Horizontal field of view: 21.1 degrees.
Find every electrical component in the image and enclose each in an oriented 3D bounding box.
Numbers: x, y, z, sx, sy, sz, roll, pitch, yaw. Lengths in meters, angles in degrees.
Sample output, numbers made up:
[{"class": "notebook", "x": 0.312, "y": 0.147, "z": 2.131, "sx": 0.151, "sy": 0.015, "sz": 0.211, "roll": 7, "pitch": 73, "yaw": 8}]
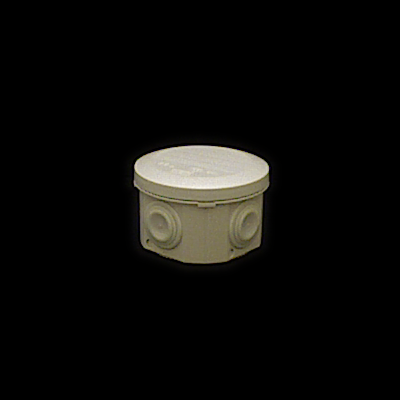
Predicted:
[{"class": "electrical component", "x": 0.000, "y": 0.000, "z": 0.641, "sx": 0.080, "sy": 0.051, "sz": 0.079, "roll": 1, "pitch": 21, "yaw": 0}]
